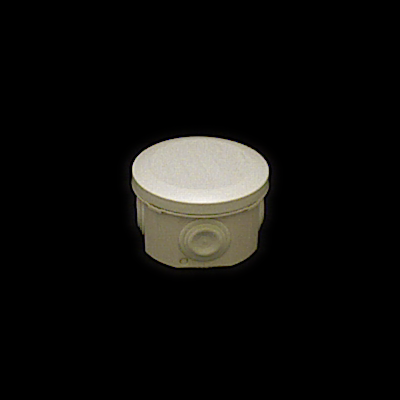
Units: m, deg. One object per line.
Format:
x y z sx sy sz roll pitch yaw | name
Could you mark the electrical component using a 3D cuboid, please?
0.000 0.000 0.634 0.080 0.051 0.079 1 31 0 | electrical component
